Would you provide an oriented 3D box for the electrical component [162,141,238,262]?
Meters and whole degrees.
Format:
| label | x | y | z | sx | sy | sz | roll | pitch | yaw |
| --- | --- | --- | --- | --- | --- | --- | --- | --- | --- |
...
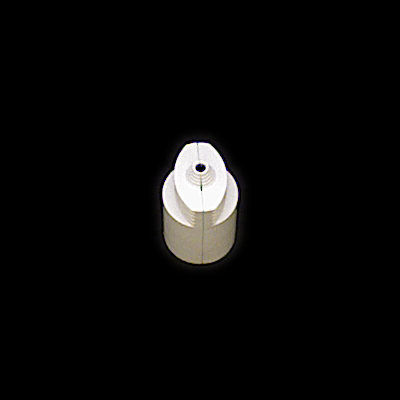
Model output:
| label | x | y | z | sx | sy | sz | roll | pitch | yaw |
| --- | --- | --- | --- | --- | --- | --- | --- | --- | --- |
| electrical component | 0.000 | 0.000 | 0.617 | 0.043 | 0.043 | 0.081 | 0 | -27 | 0 |
